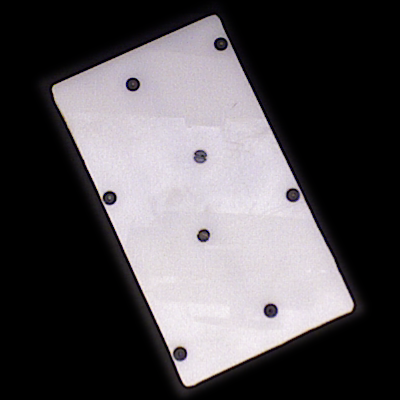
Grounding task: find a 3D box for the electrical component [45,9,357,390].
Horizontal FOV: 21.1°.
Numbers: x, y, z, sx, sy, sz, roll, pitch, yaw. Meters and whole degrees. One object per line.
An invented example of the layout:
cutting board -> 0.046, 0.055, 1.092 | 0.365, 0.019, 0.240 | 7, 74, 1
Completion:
electrical component -> 0.000, 0.000, 0.626 | 0.106, 0.186, 0.060 | -25, -6, -3
